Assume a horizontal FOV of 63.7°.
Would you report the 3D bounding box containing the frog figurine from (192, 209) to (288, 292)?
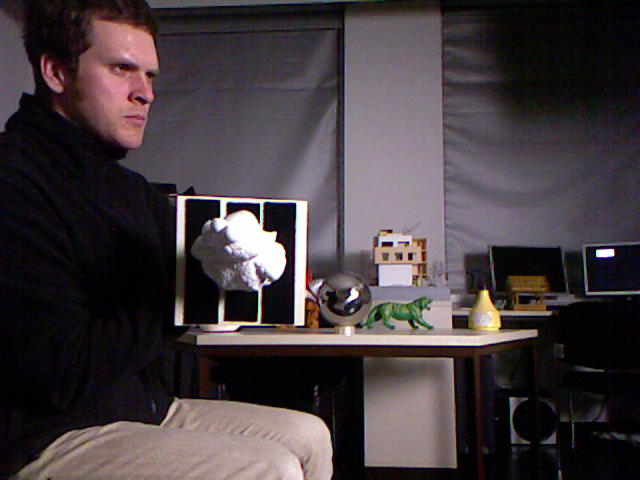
[{"bbox_3d":[-0.115,0.019,0.747,0.138,0.123,0.160,21,-2,-3],"label":"frog figurine"}]
